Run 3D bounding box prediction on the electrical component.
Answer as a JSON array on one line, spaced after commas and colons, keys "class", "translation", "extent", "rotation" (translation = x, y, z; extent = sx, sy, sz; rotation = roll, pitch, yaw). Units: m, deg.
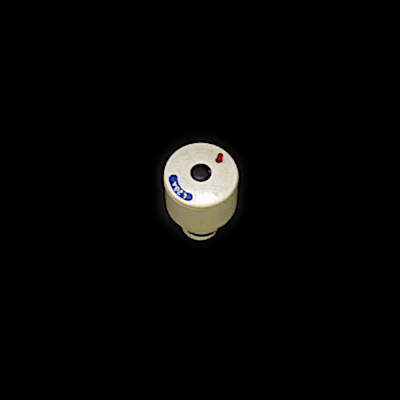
[{"class": "electrical component", "translation": [0.000, 0.000, 0.618], "extent": [0.040, 0.040, 0.078], "rotation": [0, -28, 0]}]
